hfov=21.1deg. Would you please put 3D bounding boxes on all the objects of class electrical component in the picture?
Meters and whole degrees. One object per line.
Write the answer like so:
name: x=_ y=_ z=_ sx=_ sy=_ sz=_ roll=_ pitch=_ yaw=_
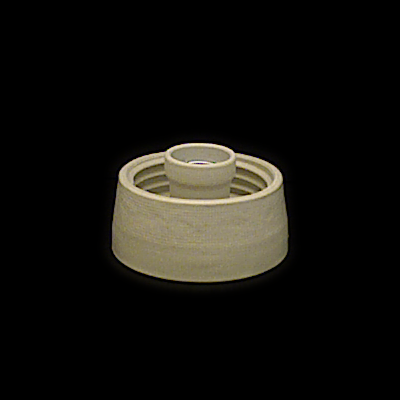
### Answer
electrical component: x=0.000 y=0.000 z=0.645 sx=0.108 sy=0.061 sz=0.106 roll=1 pitch=22 yaw=0
